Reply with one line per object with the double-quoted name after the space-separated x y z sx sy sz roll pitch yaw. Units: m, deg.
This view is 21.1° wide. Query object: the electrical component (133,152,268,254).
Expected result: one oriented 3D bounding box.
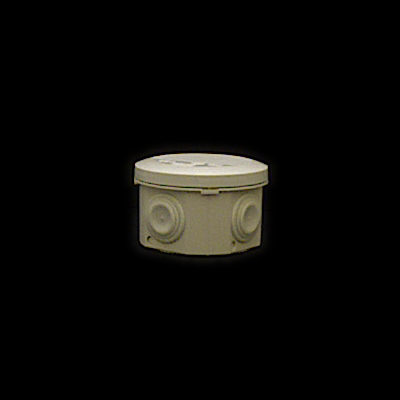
0.000 0.000 0.646 0.080 0.051 0.079 1 10 0 "electrical component"
